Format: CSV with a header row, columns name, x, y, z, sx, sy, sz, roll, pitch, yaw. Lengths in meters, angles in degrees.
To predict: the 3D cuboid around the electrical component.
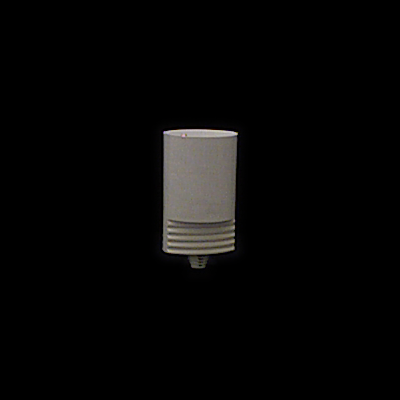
name,x,y,z,sx,sy,sz,roll,pitch,yaw
electrical component,0.000,0.000,0.639,0.043,0.081,0.043,0,11,0
